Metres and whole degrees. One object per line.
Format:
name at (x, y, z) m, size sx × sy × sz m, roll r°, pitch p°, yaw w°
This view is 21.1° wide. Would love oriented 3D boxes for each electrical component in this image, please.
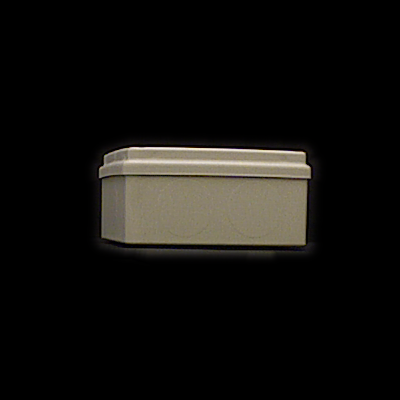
electrical component at (0.000, 0.000, 0.648) m, size 0.109 × 0.056 × 0.108 m, roll 1°, pitch 0°, yaw -14°
